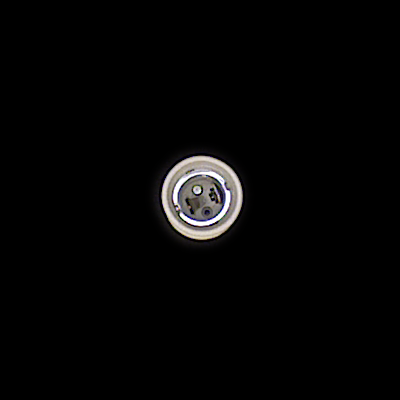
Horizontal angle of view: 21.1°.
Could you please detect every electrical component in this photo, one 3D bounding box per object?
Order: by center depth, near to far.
[{"bbox_3d":[0.000,0.000,0.629,0.045,0.045,0.055,0,-6,0],"label":"electrical component"}]
